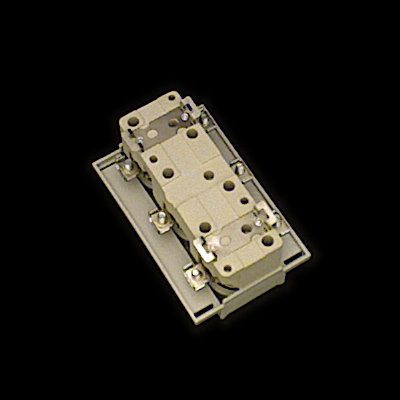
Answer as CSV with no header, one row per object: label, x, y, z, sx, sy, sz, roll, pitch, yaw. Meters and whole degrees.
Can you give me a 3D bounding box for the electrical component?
electrical component,0.000,0.000,0.632,0.079,0.121,0.063,-29,-23,-13
